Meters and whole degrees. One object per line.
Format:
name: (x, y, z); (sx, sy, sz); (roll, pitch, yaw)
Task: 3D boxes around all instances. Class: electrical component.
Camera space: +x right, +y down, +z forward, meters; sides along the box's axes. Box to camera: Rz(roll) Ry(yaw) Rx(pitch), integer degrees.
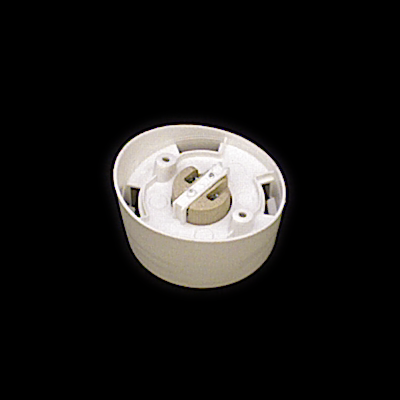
electrical component: (0.000, 0.000, 0.625); (0.099, 0.098, 0.064); (0, -37, 0)
